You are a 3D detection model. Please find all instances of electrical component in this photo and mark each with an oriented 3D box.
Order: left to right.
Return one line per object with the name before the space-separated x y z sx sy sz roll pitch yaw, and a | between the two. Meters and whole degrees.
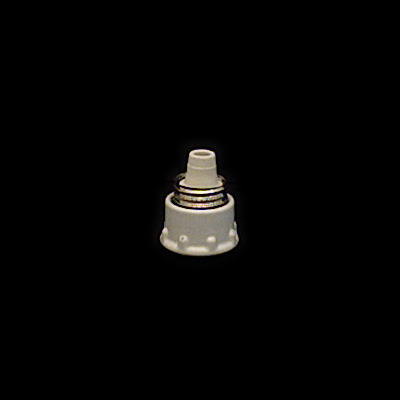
electrical component | 0.000 0.000 0.647 0.048 0.063 0.047 2 22 0
